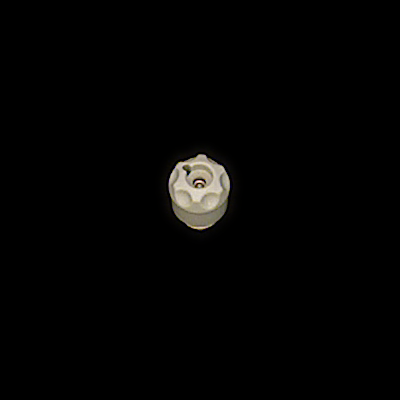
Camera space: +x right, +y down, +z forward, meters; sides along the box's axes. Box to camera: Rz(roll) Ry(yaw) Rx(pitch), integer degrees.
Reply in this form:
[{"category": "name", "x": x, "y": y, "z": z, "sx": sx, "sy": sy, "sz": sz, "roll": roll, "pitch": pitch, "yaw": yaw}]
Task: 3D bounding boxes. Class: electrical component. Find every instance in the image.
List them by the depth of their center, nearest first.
[{"category": "electrical component", "x": 0.000, "y": 0.000, "z": 0.634, "sx": 0.035, "sy": 0.035, "sz": 0.061, "roll": 0, "pitch": -27, "yaw": 0}]
